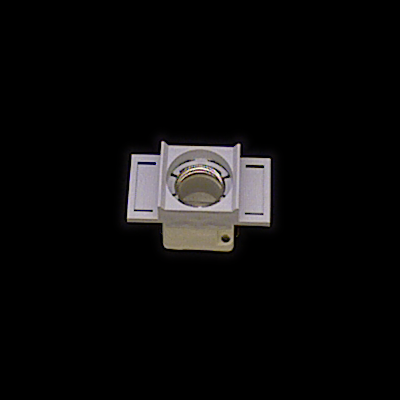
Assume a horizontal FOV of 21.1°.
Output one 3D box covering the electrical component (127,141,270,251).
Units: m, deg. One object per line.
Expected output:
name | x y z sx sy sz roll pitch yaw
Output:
electrical component | 0.000 0.000 0.624 0.081 0.042 0.063 2 -28 1
